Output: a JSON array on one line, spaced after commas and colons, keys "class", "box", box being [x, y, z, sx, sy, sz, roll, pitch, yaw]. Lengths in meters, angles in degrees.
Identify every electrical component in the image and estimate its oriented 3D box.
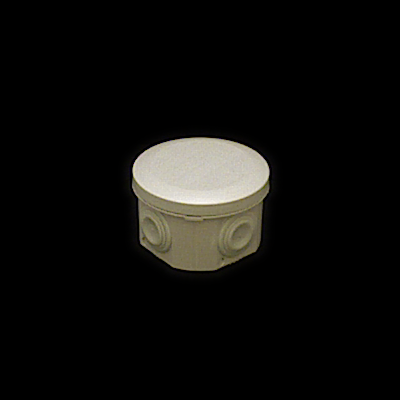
[{"class": "electrical component", "box": [0.000, 0.000, 0.634, 0.080, 0.051, 0.079, 1, 31, 0]}]
